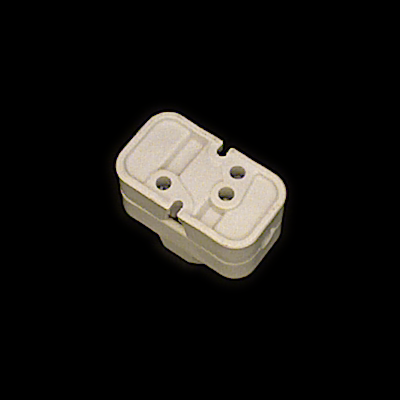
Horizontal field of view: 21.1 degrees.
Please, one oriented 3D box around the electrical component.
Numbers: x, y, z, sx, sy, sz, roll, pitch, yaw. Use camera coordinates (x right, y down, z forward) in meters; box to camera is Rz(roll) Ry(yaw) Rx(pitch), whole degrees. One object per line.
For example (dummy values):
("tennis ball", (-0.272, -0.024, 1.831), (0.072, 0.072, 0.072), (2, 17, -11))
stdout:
("electrical component", (0.000, 0.000, 0.636), (0.095, 0.054, 0.059), (33, -22, 16))
